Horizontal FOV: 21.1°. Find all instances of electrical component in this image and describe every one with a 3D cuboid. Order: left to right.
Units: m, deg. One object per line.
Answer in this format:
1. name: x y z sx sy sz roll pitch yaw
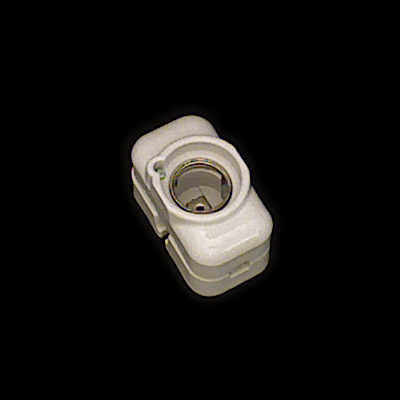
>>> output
1. electrical component: 0.000 0.000 0.633 0.054 0.095 0.059 -27 -24 -13
